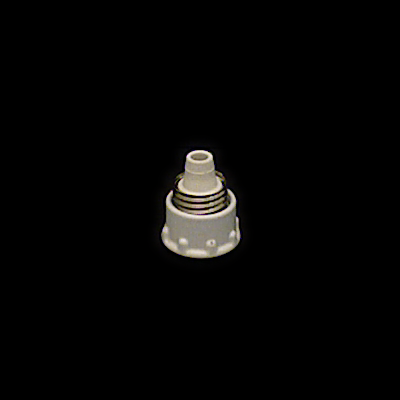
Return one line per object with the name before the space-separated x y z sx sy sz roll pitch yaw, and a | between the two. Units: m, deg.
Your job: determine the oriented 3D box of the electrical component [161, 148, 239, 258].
electrical component | 0.000 0.000 0.640 0.048 0.063 0.047 0 32 1
